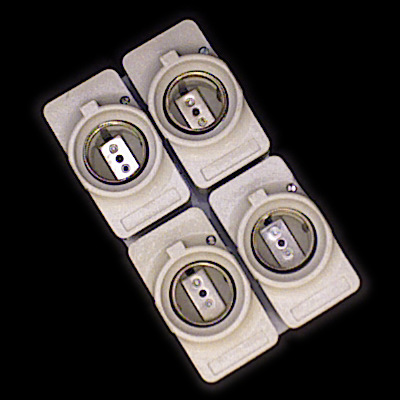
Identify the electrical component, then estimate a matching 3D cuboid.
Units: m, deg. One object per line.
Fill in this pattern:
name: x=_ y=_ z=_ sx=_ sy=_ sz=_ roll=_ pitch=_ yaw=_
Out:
electrical component: x=0.000 y=0.000 z=0.626 sx=0.106 sy=0.186 sz=0.060 roll=-32 pitch=-6 yaw=-3
